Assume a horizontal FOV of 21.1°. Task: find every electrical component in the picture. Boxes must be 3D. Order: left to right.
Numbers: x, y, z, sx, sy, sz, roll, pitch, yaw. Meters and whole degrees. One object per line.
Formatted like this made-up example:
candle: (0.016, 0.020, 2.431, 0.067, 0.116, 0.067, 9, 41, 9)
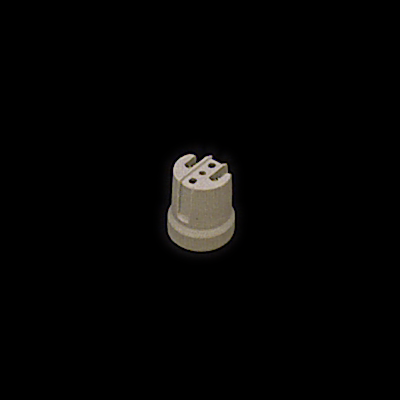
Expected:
electrical component: (0.000, 0.000, 0.636, 0.040, 0.046, 0.040, 1, 43, 0)
